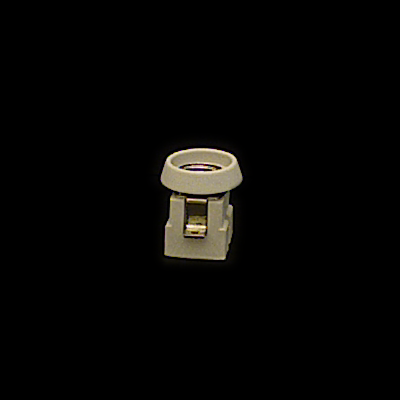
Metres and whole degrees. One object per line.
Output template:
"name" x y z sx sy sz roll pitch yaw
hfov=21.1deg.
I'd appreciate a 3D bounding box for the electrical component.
"electrical component" 0.000 0.000 0.646 0.048 0.056 0.066 1 22 6
